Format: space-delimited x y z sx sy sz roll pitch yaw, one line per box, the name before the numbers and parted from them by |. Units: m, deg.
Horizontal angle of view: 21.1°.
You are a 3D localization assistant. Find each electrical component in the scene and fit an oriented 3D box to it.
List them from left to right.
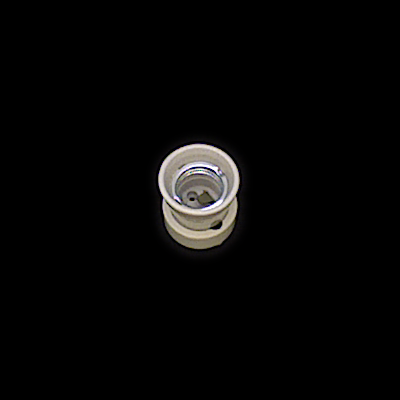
electrical component | 0.000 0.000 0.627 0.045 0.045 0.055 0 -27 1
